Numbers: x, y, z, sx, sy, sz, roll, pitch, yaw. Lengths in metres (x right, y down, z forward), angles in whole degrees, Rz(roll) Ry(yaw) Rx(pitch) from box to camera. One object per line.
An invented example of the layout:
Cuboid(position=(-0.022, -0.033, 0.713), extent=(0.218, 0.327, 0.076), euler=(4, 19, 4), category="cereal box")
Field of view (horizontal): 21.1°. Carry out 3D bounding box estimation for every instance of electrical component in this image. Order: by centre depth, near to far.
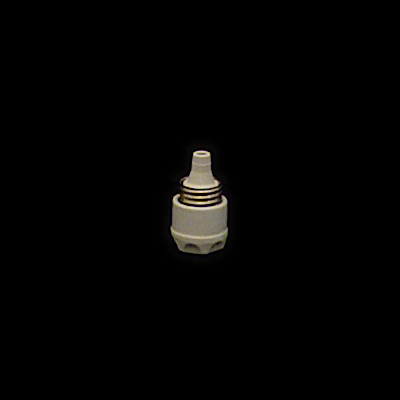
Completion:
Cuboid(position=(0.000, 0.000, 0.652), extent=(0.035, 0.062, 0.034), euler=(2, 22, 0), category="electrical component")
